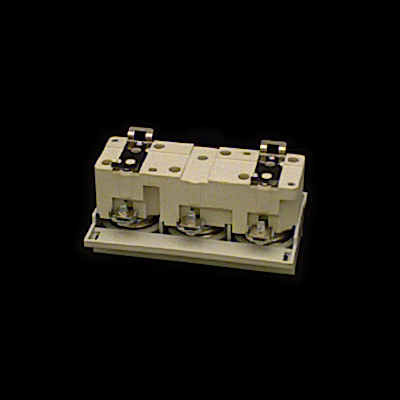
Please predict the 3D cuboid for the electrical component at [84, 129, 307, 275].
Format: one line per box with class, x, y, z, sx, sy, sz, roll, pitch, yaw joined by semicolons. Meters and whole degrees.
electrical component;0.000;0.000;0.638;0.121;0.064;0.078;6;33;8
